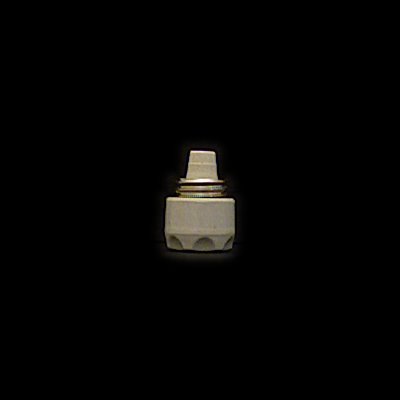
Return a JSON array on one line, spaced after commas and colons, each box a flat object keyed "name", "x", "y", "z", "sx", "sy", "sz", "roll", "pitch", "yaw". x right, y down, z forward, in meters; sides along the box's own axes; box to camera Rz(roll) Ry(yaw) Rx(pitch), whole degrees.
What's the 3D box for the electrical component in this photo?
[{"name": "electrical component", "x": 0.000, "y": 0.000, "z": 0.655, "sx": 0.043, "sy": 0.062, "sz": 0.043, "roll": 2, "pitch": 3, "yaw": 0}]
